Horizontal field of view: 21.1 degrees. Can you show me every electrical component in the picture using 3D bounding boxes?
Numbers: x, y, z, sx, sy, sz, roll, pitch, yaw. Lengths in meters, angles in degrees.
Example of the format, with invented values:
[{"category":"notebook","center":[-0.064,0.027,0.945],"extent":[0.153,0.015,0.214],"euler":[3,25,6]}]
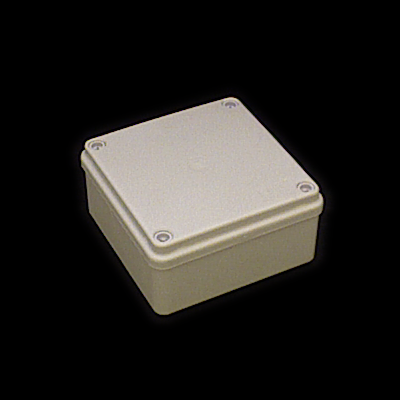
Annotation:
[{"category":"electrical component","center":[0.000,0.000,0.633],"extent":[0.109,0.057,0.107],"euler":[-19,45,-21]}]
